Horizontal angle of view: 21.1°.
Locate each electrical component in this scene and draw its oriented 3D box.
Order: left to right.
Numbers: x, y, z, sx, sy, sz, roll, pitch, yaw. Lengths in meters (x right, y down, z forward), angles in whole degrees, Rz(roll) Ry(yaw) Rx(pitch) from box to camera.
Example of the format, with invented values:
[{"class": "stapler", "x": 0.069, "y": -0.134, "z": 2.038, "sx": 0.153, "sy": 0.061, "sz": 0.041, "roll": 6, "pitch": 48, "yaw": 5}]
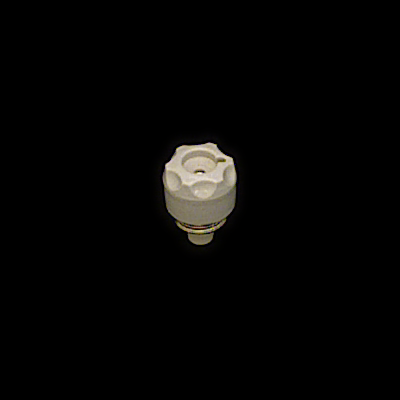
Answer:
[{"class": "electrical component", "x": 0.000, "y": 0.000, "z": 0.637, "sx": 0.043, "sy": 0.062, "sz": 0.043, "roll": 0, "pitch": 43, "yaw": 1}]
